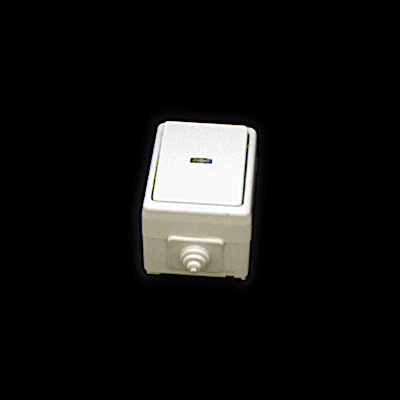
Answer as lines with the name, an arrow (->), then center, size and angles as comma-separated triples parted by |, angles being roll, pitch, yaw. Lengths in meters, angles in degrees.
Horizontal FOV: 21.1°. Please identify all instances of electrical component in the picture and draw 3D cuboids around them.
electrical component -> 0.000, 0.000, 0.628 | 0.062, 0.061, 0.095 | 4, 42, 3
